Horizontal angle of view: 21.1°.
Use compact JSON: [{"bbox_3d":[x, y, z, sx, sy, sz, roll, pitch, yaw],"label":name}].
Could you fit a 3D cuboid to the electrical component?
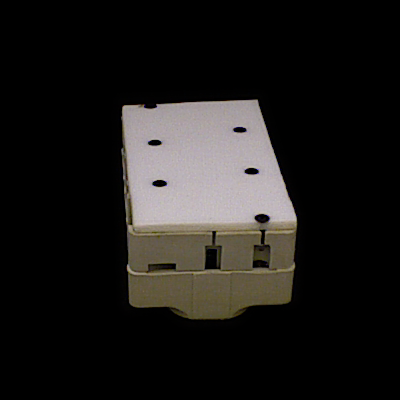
[{"bbox_3d":[0.000,0.000,0.638,0.089,0.063,0.147,-2,32,-4],"label":"electrical component"}]
